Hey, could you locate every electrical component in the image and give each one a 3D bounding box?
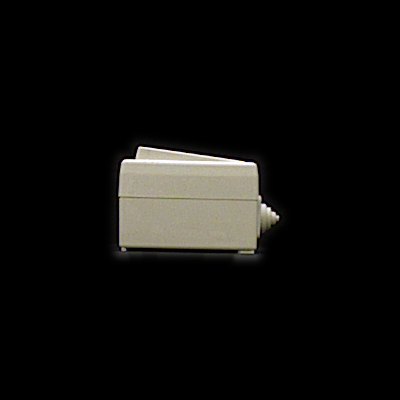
[{"bbox_3d":[0.000,0.000,0.650,0.096,0.061,0.061,1,0,-1],"label":"electrical component"}]
